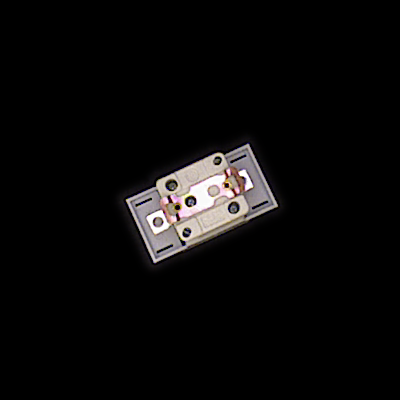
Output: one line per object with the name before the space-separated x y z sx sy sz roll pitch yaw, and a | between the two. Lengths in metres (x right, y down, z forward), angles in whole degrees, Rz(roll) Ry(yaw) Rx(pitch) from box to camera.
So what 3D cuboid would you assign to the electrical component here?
electrical component | 0.000 0.000 0.626 0.081 0.042 0.063 -25 -6 -2
